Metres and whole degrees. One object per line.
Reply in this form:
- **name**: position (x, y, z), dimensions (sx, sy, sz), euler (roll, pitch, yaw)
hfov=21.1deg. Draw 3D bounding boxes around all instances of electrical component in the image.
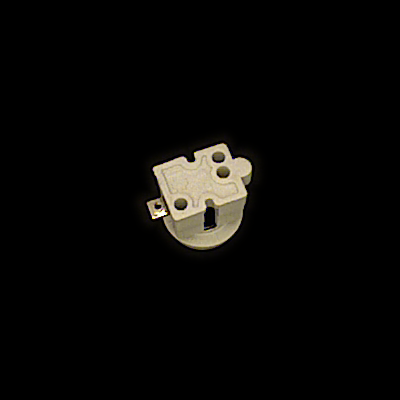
- **electrical component**: position (0.000, 0.000, 0.638), dimensions (0.067, 0.048, 0.055), euler (-19, -24, -8)
